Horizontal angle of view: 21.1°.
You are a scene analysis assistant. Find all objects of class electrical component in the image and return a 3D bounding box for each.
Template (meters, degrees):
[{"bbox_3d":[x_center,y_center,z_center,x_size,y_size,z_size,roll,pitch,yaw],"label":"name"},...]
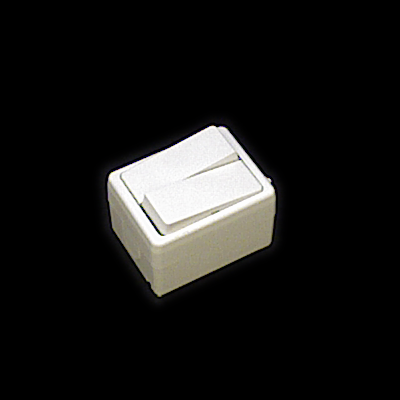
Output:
[{"bbox_3d":[0.000,0.000,0.629,0.096,0.061,0.061,-24,-34,-18],"label":"electrical component"}]
